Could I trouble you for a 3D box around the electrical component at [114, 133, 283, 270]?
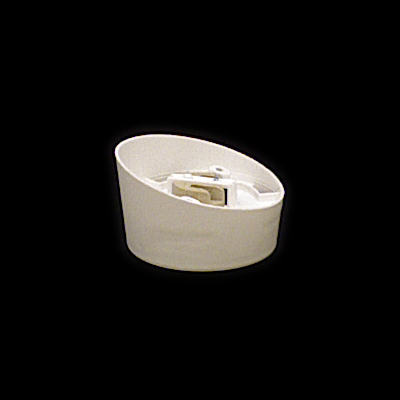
[{"bbox_3d":[0.000,0.000,0.637,0.099,0.065,0.097,0,21,0],"label":"electrical component"}]
